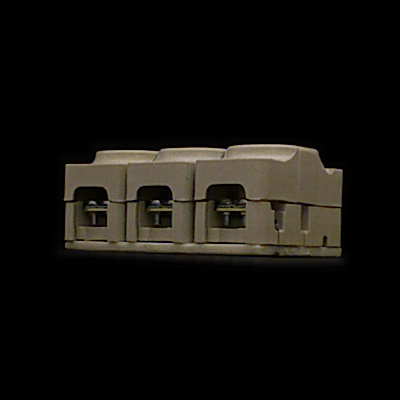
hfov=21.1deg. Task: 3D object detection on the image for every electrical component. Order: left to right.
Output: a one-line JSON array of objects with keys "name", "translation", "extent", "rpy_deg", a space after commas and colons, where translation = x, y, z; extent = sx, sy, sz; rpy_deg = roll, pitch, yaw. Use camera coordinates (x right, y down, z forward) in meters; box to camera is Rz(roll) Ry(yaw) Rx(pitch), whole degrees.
[{"name": "electrical component", "translation": [0.000, 0.000, 0.658], "extent": [0.150, 0.062, 0.090], "rpy_deg": [1, -1, 37]}]
